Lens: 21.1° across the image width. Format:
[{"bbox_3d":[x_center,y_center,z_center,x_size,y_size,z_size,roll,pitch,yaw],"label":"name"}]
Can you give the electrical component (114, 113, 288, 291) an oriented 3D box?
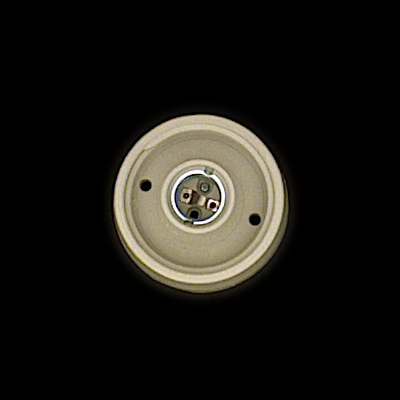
[{"bbox_3d":[0.000,0.000,0.635,0.108,0.108,0.060,0,-6,0],"label":"electrical component"}]
